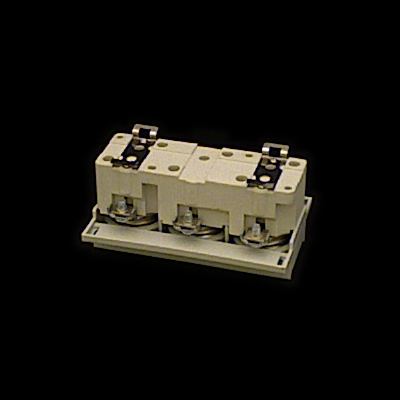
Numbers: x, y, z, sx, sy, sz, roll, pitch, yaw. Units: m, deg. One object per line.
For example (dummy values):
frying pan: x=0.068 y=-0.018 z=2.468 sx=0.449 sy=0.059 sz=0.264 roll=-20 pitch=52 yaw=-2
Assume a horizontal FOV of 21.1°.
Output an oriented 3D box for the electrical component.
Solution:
electrical component: x=0.000 y=0.000 z=0.638 sx=0.121 sy=0.064 sz=0.078 roll=9 pitch=34 yaw=12
